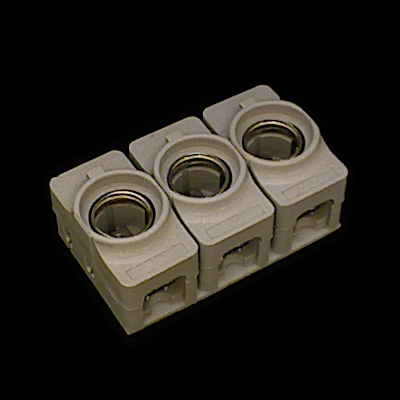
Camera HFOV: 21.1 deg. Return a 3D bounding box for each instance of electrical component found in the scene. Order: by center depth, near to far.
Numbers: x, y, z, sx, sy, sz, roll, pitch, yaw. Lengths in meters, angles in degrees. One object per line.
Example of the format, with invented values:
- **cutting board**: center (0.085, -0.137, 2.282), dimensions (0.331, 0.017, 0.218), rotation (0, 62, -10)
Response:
- **electrical component**: center (0.000, 0.000, 0.634), dimensions (0.150, 0.088, 0.062), rotation (-26, -34, -20)
